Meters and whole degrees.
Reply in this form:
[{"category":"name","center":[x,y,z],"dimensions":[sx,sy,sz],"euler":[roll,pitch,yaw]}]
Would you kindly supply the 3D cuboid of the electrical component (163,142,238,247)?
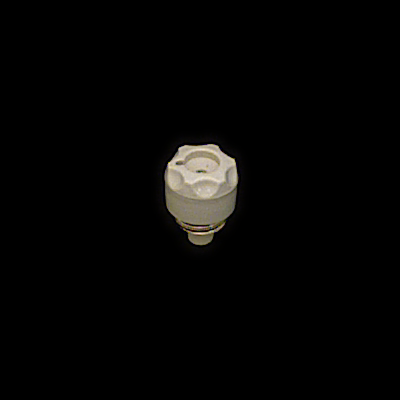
[{"category":"electrical component","center":[0.000,0.000,0.639],"dimensions":[0.043,0.062,0.043],"euler":[1,42,0]}]
